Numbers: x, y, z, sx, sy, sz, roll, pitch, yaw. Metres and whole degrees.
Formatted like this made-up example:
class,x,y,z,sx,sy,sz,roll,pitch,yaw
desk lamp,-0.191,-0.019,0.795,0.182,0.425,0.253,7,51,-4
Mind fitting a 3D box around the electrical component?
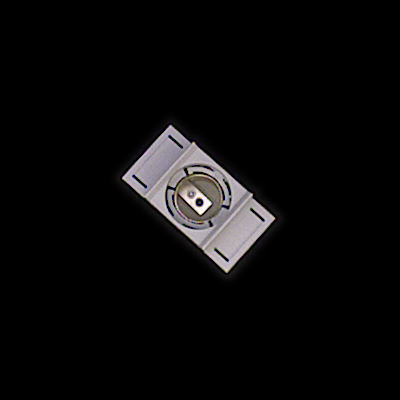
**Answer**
class,x,y,z,sx,sy,sz,roll,pitch,yaw
electrical component,0.000,0.000,0.625,0.081,0.042,0.063,42,-3,4
